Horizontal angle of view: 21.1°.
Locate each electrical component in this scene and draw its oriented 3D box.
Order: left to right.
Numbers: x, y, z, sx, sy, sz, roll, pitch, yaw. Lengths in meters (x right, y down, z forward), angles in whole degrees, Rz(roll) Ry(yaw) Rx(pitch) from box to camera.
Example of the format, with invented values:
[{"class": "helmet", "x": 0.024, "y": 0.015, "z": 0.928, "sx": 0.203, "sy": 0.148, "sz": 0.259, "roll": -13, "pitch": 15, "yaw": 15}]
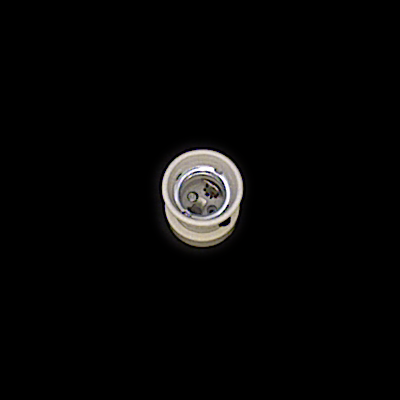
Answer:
[{"class": "electrical component", "x": 0.000, "y": 0.000, "z": 0.628, "sx": 0.045, "sy": 0.045, "sz": 0.055, "roll": 0, "pitch": -17, "yaw": 0}]
